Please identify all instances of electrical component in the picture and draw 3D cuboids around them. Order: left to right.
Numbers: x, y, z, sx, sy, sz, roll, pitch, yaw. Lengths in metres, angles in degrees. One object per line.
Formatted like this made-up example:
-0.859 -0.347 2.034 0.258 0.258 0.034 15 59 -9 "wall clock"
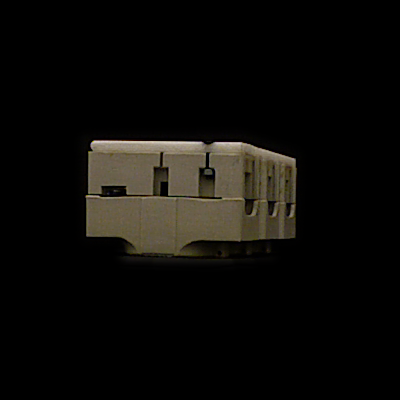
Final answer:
0.000 0.000 0.653 0.089 0.062 0.150 1 -1 17 "electrical component"
